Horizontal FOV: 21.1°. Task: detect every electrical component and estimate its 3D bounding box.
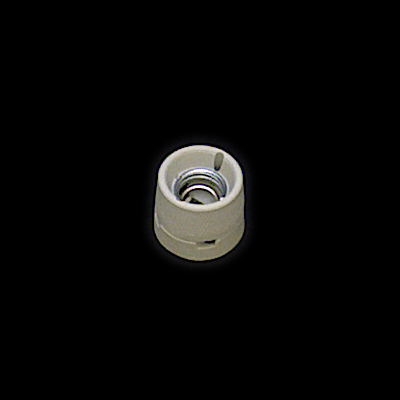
[{"bbox_3d":[0.000,0.000,0.635,0.055,0.055,0.047,0,-38,-2],"label":"electrical component"}]
